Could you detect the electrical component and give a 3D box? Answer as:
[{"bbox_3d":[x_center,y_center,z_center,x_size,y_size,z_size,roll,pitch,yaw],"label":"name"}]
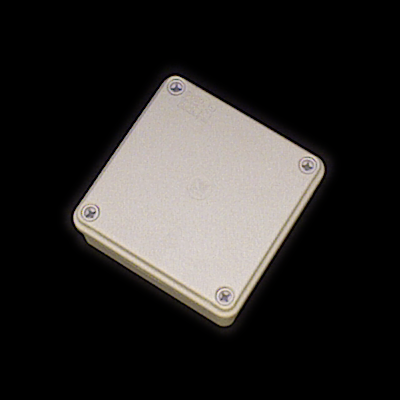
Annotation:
[{"bbox_3d":[0.000,0.000,0.629,0.109,0.109,0.056,31,-14,9],"label":"electrical component"}]
